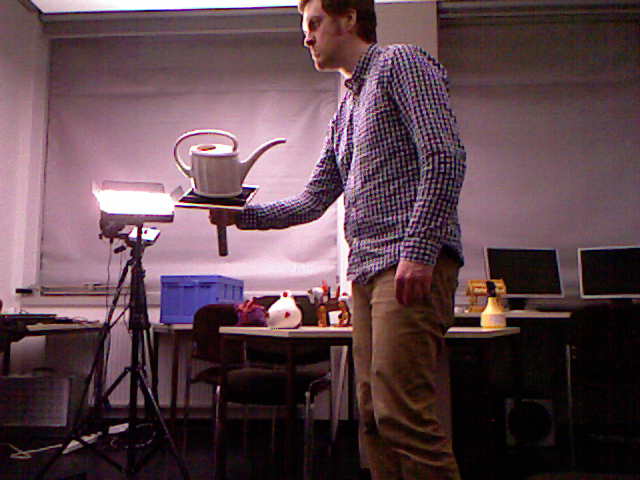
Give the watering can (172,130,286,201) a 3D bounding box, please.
[{"bbox_3d":[-0.273,-0.220,1.549,0.348,0.220,0.106,3,29,6],"label":"watering can"}]
